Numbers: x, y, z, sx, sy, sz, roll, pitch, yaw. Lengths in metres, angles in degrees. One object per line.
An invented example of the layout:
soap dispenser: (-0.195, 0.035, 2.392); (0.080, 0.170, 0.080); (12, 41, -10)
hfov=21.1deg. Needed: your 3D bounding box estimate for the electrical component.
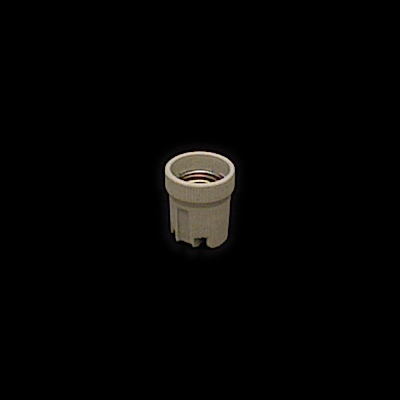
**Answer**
electrical component: (0.000, 0.000, 0.634); (0.040, 0.047, 0.039); (1, 32, 0)
